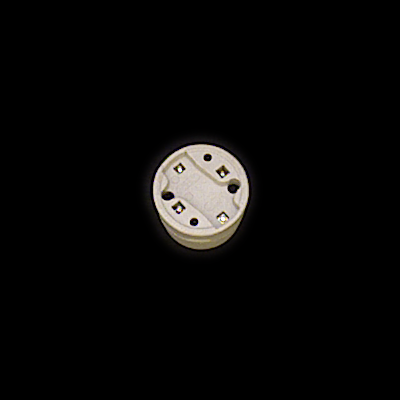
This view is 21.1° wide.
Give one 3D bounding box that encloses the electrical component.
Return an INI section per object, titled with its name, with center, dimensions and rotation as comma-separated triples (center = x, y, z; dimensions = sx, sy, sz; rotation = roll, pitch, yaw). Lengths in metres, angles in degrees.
[electrical component]
center = 0.000, 0.000, 0.635
dimensions = 0.055, 0.056, 0.047
rotation = 0, -17, 0
